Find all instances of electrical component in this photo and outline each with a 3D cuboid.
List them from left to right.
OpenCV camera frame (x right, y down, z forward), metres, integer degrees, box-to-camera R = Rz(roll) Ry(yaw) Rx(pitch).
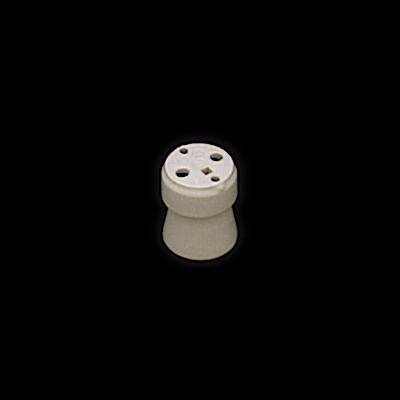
[{"bbox_3d":[0.000,0.000,0.631,0.045,0.055,0.044,0,42,0],"label":"electrical component"}]
